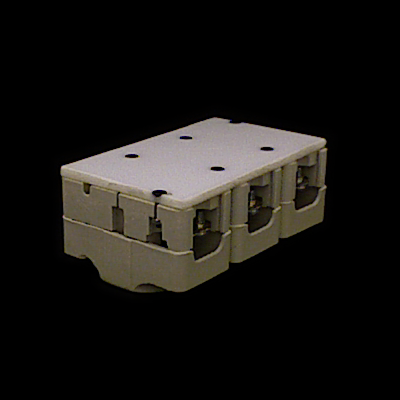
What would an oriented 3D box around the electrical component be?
[{"bbox_3d":[0.000,0.000,0.649,0.089,0.063,0.148,16,25,34],"label":"electrical component"}]
